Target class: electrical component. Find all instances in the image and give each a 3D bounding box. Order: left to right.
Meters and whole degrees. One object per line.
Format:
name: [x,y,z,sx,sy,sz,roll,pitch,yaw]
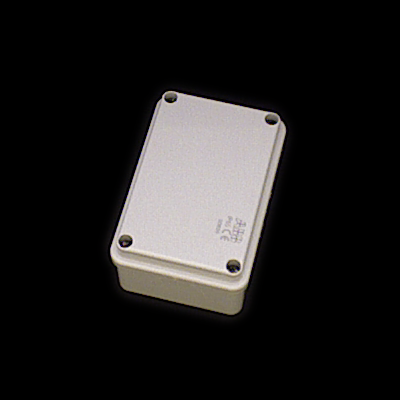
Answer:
electrical component: [0.000,0.000,0.627,0.078,0.113,0.057,13,-27,6]
